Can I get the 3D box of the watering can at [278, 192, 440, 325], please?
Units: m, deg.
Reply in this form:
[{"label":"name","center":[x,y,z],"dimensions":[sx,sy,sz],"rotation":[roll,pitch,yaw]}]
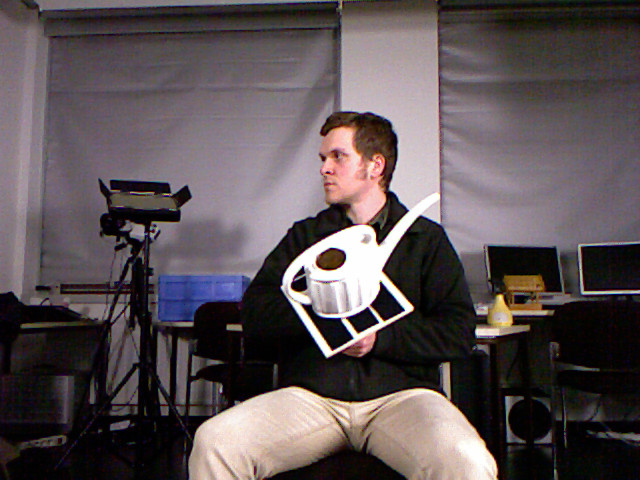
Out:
[{"label":"watering can","center":[0.085,0.043,1.006],"dimensions":[0.350,0.106,0.219],"rotation":[-25,-39,-12]}]
